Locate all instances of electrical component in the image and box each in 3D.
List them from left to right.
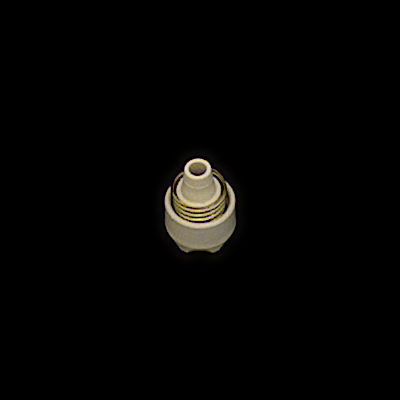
[{"bbox_3d":[0.000,0.000,0.635,0.043,0.043,0.062,0,-37,1],"label":"electrical component"}]
